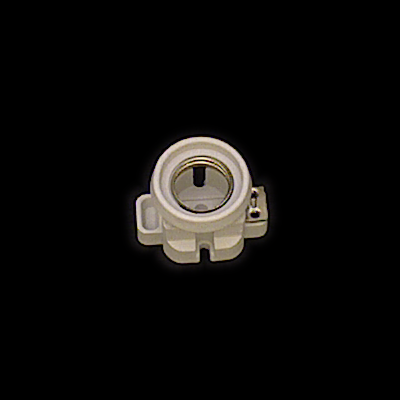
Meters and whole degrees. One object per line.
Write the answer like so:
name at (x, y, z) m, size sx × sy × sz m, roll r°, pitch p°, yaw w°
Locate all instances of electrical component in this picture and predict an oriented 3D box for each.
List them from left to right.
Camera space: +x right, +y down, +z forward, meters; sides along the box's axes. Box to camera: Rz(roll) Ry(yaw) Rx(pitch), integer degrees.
electrical component at (0.000, 0.000, 0.629) m, size 0.078 × 0.058 × 0.057 m, roll -4°, pitch -27°, yaw -2°
